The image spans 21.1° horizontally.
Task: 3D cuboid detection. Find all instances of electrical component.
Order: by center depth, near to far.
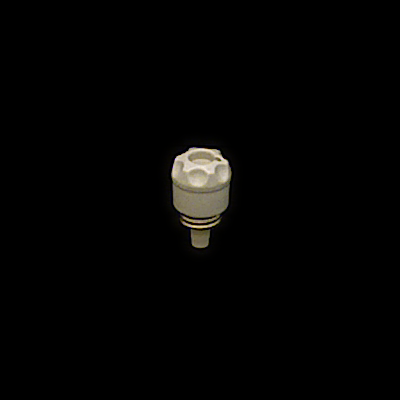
[{"bbox_3d":[0.000,0.000,0.640,0.035,0.062,0.034,1,33,0],"label":"electrical component"}]
